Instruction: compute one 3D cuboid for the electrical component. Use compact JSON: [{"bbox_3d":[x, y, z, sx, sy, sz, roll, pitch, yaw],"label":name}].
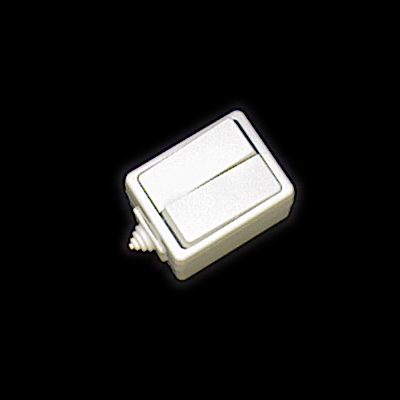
[{"bbox_3d":[0.000,0.000,0.625,0.096,0.062,0.060,-31,-14,-9],"label":"electrical component"}]
